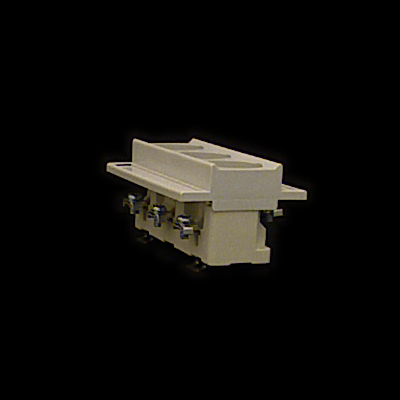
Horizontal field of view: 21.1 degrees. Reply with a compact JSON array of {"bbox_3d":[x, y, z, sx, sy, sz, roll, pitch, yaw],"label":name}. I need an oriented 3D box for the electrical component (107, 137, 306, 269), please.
[{"bbox_3d":[0.000,0.000,0.658,0.079,0.063,0.120,-2,11,-24],"label":"electrical component"}]
